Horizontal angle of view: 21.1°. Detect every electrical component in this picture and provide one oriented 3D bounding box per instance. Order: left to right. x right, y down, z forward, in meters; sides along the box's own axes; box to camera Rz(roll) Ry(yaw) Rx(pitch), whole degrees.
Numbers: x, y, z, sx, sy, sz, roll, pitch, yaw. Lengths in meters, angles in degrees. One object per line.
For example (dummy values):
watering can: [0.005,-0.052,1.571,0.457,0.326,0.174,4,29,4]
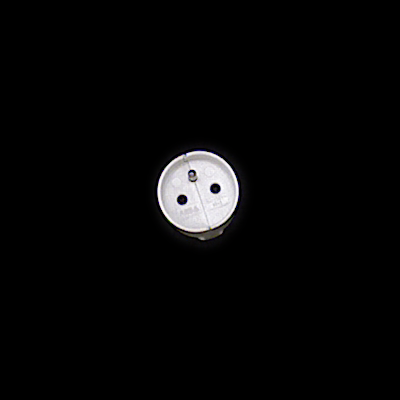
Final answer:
electrical component: [0.000,0.000,0.615,0.043,0.043,0.080,0,-7,0]
